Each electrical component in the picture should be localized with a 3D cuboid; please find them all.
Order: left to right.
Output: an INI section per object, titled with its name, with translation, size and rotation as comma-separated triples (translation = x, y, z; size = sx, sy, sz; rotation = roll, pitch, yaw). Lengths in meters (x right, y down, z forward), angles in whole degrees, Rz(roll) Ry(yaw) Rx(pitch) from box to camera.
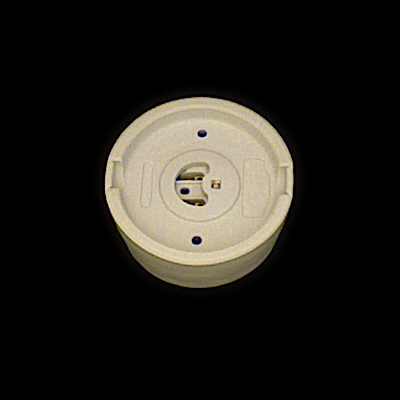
[electrical component]
translation = 0.000, 0.000, 0.635
size = 0.108, 0.108, 0.060
rotation = 0, -27, 0
